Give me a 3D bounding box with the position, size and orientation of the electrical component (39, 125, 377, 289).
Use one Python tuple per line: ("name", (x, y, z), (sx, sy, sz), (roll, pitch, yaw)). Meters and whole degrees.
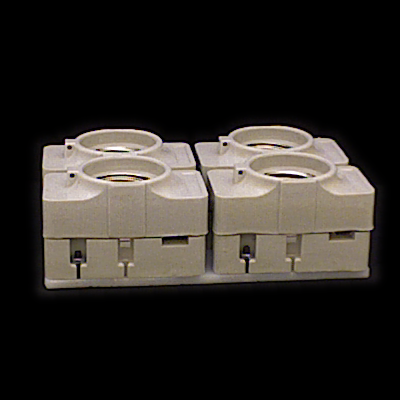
("electrical component", (0.000, 0.000, 0.637), (0.186, 0.061, 0.104), (-2, 21, -7))
